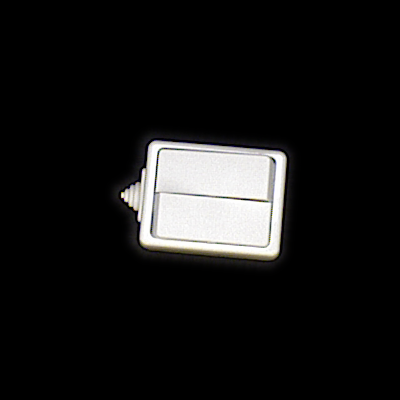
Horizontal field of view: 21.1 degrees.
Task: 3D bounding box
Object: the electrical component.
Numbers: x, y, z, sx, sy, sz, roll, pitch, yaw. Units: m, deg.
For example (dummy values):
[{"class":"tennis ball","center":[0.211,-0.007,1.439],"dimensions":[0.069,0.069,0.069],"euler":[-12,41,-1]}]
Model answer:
[{"class":"electrical component","center":[0.000,0.000,0.627],"dimensions":[0.096,0.062,0.061],"euler":[5,-7,1]}]
